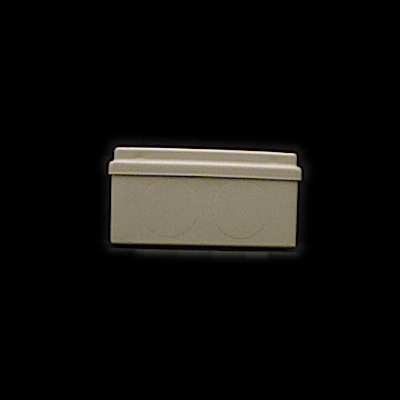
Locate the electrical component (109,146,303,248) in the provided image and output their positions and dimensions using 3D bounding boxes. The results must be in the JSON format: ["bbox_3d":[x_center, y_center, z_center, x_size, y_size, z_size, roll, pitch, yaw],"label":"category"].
[{"bbox_3d":[0.000,0.000,0.651,0.109,0.056,0.108,2,0,-3],"label":"electrical component"}]
